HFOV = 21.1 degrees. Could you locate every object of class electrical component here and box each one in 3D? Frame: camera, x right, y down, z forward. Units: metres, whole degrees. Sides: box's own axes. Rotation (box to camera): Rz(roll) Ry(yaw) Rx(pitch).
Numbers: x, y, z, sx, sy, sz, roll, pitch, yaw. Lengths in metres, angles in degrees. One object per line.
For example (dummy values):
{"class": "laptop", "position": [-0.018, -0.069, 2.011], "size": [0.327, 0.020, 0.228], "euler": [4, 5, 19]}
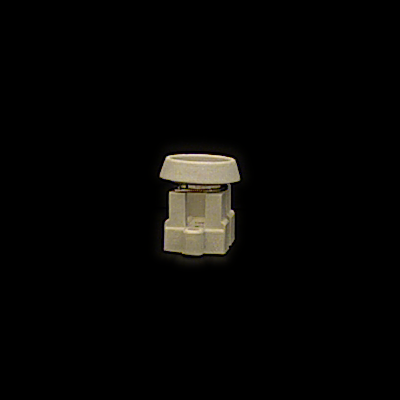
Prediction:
{"class": "electrical component", "position": [0.000, 0.000, 0.652], "size": [0.048, 0.056, 0.066], "euler": [5, 12, 8]}
